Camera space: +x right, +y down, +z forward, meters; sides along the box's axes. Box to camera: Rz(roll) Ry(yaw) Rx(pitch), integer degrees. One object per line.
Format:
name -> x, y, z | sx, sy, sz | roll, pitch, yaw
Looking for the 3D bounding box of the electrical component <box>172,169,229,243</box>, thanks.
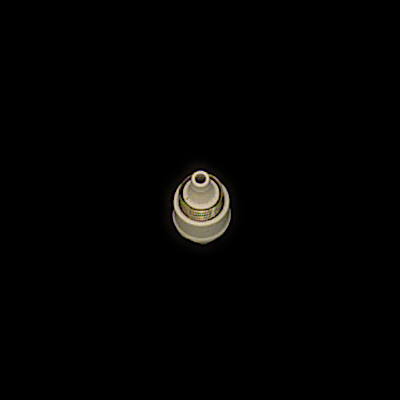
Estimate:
electrical component -> 0.000, 0.000, 0.638 | 0.035, 0.035, 0.061 | 0, -25, 1
